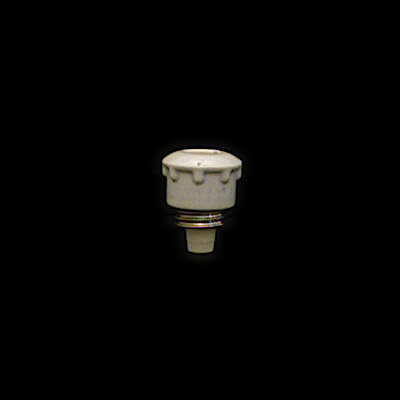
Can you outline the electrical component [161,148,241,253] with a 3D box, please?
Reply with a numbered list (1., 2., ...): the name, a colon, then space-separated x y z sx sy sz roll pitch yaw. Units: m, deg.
1. electrical component: 0.000 0.000 0.653 0.048 0.062 0.048 1 11 0
